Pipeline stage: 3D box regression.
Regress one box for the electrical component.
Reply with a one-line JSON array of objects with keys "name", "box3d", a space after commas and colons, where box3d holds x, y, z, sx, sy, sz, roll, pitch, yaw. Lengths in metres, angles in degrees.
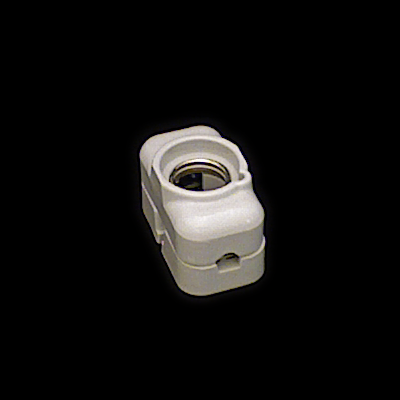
[{"name": "electrical component", "box3d": [0.000, 0.000, 0.638, 0.054, 0.060, 0.094, -14, 45, -15]}]
